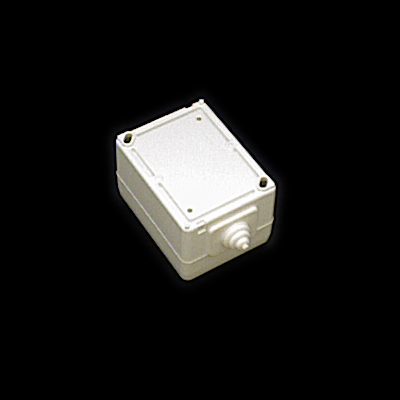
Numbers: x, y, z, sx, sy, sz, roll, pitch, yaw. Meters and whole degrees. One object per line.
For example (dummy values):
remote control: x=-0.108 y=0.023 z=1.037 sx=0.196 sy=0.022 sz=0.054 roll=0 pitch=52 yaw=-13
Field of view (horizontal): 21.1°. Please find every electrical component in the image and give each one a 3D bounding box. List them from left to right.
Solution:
electrical component: x=0.000 y=0.000 z=0.624 sx=0.061 sy=0.096 sz=0.061 roll=-26 pitch=-34 yaw=-20
